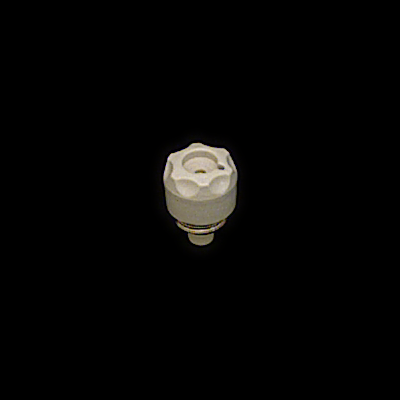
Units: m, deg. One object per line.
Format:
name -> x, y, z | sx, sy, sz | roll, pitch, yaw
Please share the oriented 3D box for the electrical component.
electrical component -> 0.000, 0.000, 0.638 | 0.043, 0.062, 0.043 | 0, 43, 1
